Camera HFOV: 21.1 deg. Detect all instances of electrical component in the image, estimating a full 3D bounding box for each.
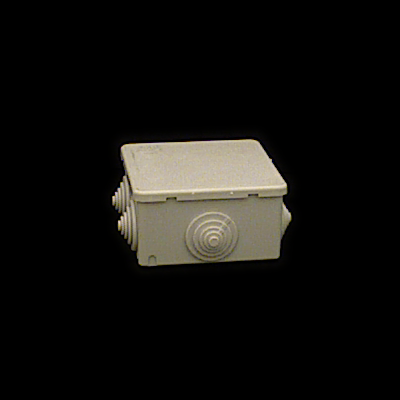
[{"bbox_3d":[0.000,0.000,0.648,0.100,0.049,0.098,-2,22,-9],"label":"electrical component"}]
